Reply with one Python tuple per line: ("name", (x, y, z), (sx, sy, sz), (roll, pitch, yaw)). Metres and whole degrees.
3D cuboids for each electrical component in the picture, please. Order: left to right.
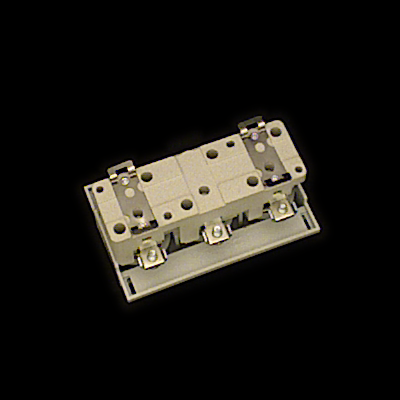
("electrical component", (0.000, 0.000, 0.635), (0.122, 0.078, 0.063), (-20, -26, -10))
